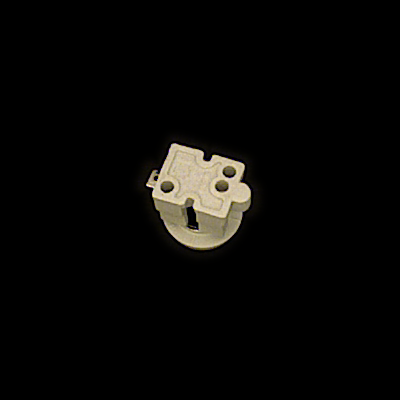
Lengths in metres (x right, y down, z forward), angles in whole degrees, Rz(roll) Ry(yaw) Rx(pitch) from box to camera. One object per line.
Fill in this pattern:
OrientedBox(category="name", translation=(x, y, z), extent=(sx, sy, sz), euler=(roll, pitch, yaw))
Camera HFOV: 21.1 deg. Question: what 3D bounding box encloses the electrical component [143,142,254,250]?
OrientedBox(category="electrical component", translation=(0.000, 0.000, 0.638), extent=(0.066, 0.048, 0.055), euler=(17, -24, 9))
